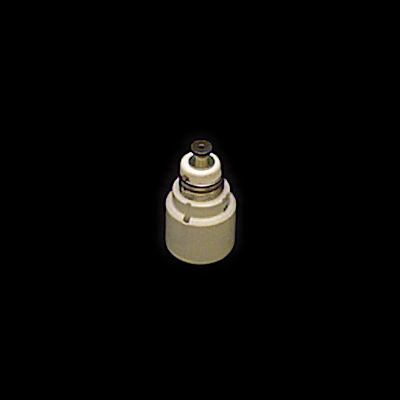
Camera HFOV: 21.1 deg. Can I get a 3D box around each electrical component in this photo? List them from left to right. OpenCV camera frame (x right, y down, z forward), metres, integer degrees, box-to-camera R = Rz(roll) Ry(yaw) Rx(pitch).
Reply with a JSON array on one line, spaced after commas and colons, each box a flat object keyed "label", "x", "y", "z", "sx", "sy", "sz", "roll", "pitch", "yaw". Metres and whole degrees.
[{"label": "electrical component", "x": 0.000, "y": 0.000, "z": 0.623, "sx": 0.040, "sy": 0.079, "sz": 0.039, "roll": 0, "pitch": 41, "yaw": 0}]
